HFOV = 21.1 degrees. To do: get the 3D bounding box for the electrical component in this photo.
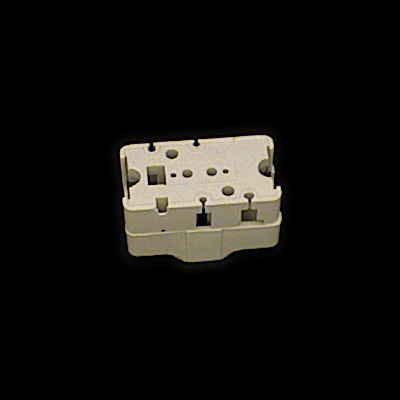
[{"bbox_3d":[0.000,0.000,0.637,0.090,0.050,0.056,-4,-36,-3],"label":"electrical component"}]
